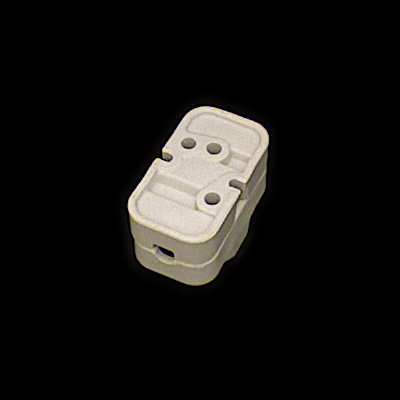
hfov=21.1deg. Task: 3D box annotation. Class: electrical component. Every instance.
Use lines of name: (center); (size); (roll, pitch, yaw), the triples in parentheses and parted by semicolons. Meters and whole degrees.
electrical component: (0.000, 0.000, 0.635); (0.053, 0.095, 0.059); (21, -34, 15)
